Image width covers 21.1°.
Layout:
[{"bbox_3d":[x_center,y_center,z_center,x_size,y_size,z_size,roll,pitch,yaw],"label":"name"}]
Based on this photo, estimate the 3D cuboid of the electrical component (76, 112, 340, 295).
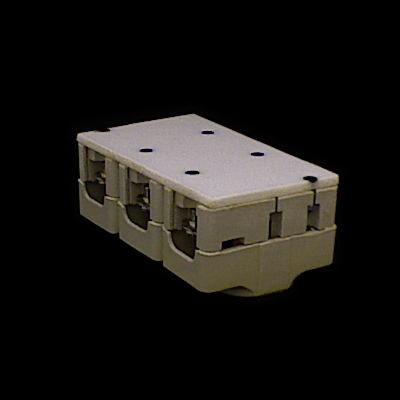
[{"bbox_3d":[0.000,0.000,0.644,0.089,0.063,0.148,-13,25,-31],"label":"electrical component"}]
